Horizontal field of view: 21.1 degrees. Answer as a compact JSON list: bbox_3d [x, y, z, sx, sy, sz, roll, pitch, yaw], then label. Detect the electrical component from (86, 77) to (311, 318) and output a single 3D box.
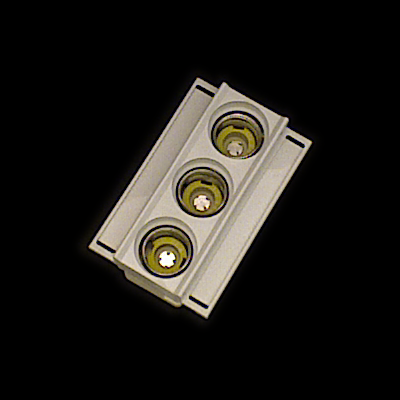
[{"bbox_3d":[0.000,0.000,0.637,0.078,0.122,0.063,30,-14,7],"label":"electrical component"}]
